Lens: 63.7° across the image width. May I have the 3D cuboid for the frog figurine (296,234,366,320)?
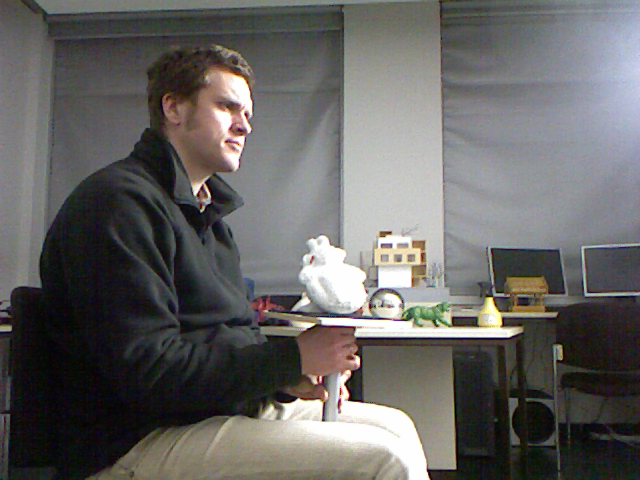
[{"bbox_3d":[0.023,0.068,0.984,0.137,0.160,0.122,3,-1,-9],"label":"frog figurine"}]
